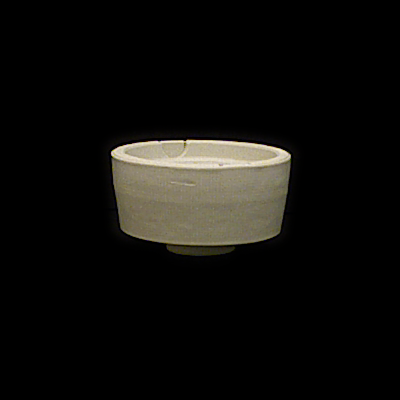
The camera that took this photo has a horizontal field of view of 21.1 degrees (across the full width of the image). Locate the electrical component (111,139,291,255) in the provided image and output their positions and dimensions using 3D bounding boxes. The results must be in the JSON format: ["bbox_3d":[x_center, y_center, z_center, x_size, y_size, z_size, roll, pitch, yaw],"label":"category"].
[{"bbox_3d":[0.000,0.000,0.653,0.108,0.061,0.107,2,11,0],"label":"electrical component"}]
